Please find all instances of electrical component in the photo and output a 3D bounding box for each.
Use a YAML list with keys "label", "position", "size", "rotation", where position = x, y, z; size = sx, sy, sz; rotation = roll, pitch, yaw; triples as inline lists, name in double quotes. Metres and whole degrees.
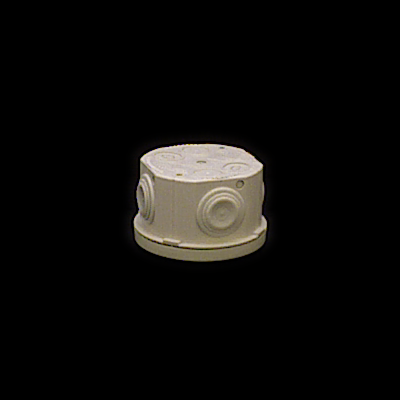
- label: "electrical component"
  position: [0.000, 0.000, 0.642]
  size: [0.080, 0.051, 0.079]
  rotation: [1, 20, 0]
